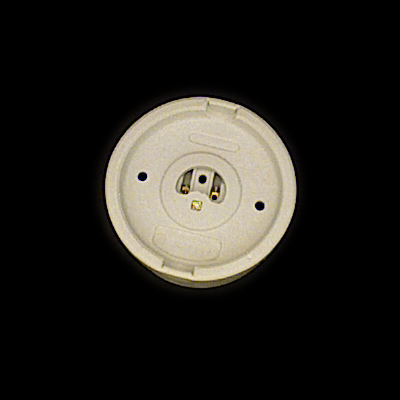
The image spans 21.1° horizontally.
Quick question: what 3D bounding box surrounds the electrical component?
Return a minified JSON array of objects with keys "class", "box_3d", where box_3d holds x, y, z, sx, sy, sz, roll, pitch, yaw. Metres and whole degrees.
[{"class":"electrical component","box_3d":[0.000,0.000,0.633,0.108,0.108,0.060,0,-17,0]}]
